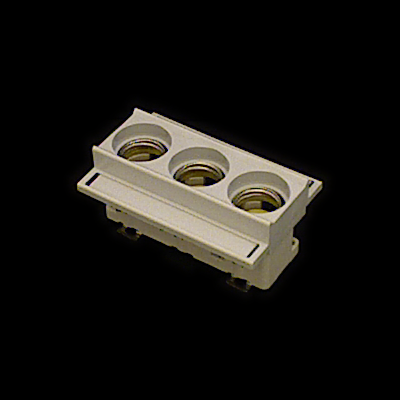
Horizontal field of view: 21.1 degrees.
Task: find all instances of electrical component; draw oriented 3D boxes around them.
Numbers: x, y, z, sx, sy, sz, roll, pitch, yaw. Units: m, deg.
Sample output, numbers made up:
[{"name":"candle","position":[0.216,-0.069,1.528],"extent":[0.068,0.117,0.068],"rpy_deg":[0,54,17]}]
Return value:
[{"name":"electrical component","position":[0.000,0.000,0.641],"extent":[0.120,0.063,0.078],"rpy_deg":[24,49,24]}]
